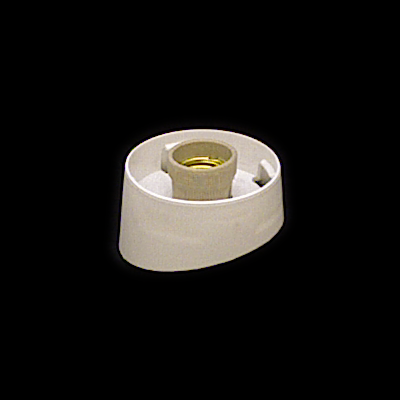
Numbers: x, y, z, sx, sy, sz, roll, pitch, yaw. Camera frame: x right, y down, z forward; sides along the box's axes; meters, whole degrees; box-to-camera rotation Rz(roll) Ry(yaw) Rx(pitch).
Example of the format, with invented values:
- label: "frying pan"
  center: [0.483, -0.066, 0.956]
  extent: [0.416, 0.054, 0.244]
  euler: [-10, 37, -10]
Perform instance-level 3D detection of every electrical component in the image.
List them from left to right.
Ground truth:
- label: "electrical component"
  center: [0.000, 0.000, 0.634]
  extent: [0.099, 0.065, 0.097]
  euler: [0, 31, 0]
